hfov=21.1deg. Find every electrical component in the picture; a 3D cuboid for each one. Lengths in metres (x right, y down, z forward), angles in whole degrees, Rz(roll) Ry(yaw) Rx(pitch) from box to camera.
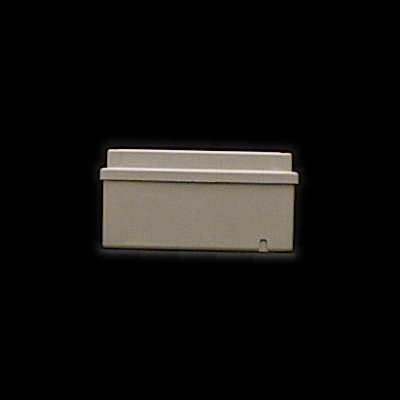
[{"bbox_3d":[0.000,0.000,0.647,0.113,0.057,0.078,1,0,0],"label":"electrical component"}]
